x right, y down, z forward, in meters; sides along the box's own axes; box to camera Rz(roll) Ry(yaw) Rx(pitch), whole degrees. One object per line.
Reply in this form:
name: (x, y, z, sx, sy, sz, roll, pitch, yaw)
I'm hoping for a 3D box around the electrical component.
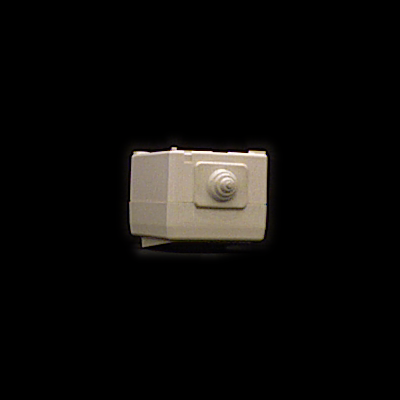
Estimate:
electrical component: (0.000, 0.000, 0.647, 0.062, 0.061, 0.096, 1, 1, -21)
